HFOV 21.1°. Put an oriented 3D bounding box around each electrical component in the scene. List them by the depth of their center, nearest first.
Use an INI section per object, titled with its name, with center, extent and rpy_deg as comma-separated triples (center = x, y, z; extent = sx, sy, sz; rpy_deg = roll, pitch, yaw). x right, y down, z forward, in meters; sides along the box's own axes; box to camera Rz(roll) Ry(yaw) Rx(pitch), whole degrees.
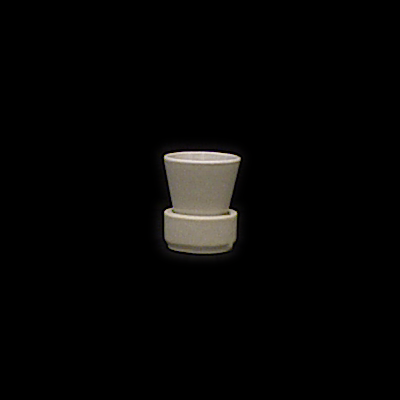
[electrical component]
center = 0.000, 0.000, 0.646
extent = 0.045, 0.055, 0.044
rpy_deg = 2, 11, 0
